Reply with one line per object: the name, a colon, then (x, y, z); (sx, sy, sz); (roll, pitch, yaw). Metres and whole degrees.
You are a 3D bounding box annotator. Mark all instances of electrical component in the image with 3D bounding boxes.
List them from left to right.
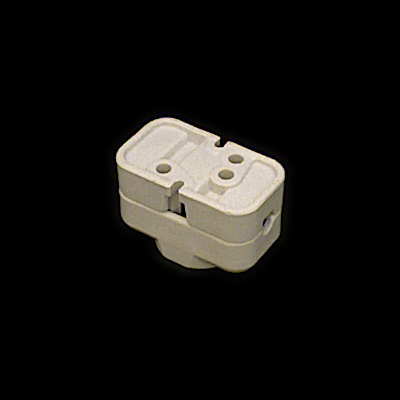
electrical component: (0.000, 0.000, 0.640); (0.094, 0.060, 0.053); (24, 47, 23)
